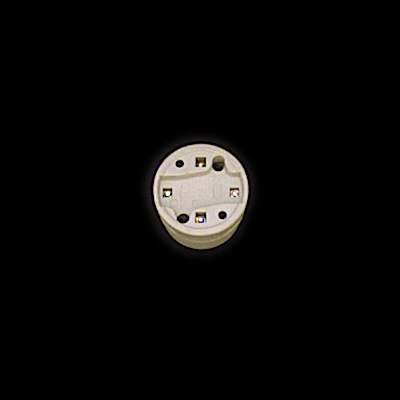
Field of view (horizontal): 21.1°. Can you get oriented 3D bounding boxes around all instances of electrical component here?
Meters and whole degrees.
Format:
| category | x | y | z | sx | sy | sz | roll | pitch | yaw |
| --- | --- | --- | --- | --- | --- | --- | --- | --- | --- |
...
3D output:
| category | x | y | z | sx | sy | sz | roll | pitch | yaw |
| --- | --- | --- | --- | --- | --- | --- | --- | --- | --- |
| electrical component | 0.000 | 0.000 | 0.634 | 0.055 | 0.056 | 0.047 | 0 | -17 | 0 |
